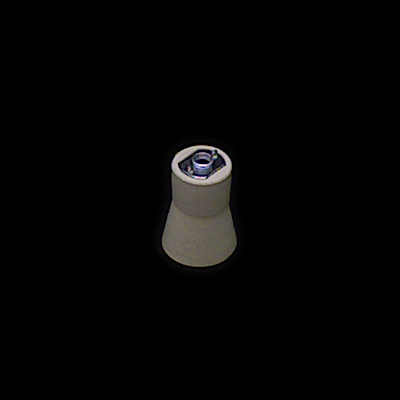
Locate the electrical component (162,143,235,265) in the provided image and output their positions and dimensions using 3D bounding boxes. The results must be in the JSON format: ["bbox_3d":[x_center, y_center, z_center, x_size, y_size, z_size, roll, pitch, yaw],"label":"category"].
[{"bbox_3d":[0.000,0.000,0.628,0.044,0.066,0.044,1,42,-1],"label":"electrical component"}]
